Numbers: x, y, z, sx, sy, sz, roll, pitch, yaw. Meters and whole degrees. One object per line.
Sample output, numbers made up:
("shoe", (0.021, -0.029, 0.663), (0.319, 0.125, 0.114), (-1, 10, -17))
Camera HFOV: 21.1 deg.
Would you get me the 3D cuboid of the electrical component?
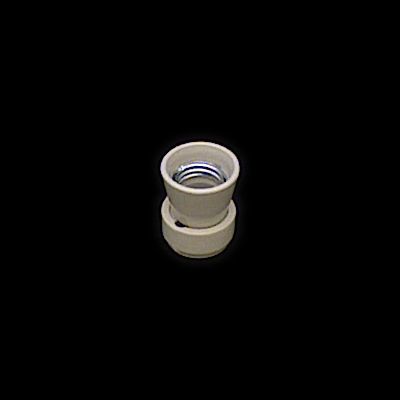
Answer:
("electrical component", (0.000, 0.000, 0.632), (0.045, 0.056, 0.044), (1, 43, -1))
